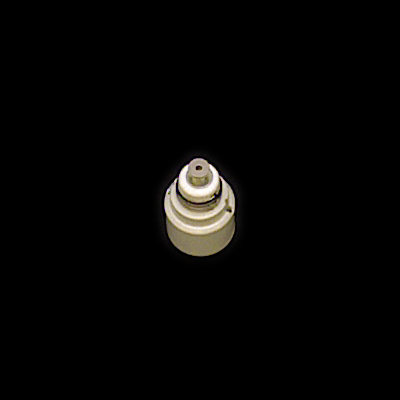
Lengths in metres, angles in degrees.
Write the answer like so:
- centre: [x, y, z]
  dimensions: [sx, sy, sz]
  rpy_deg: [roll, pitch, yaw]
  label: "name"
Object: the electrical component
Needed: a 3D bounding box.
- centre: [0.000, 0.000, 0.618]
  dimensions: [0.040, 0.040, 0.078]
  rpy_deg: [0, -27, 1]
  label: "electrical component"
